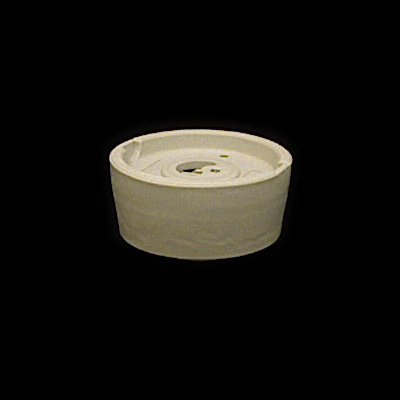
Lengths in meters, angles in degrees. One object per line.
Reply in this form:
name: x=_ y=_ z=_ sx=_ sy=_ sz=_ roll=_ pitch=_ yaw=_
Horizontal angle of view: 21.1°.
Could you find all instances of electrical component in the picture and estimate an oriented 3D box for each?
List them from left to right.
electrical component: x=0.000 y=0.000 z=0.647 sx=0.108 sy=0.061 sz=0.106 roll=1 pitch=21 yaw=0
